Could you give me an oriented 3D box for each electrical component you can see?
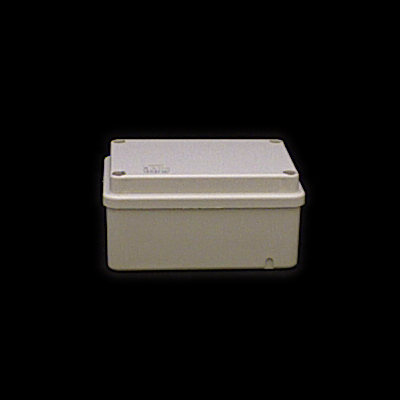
[{"bbox_3d":[0.000,0.000,0.637,0.113,0.058,0.077,0,21,-4],"label":"electrical component"}]
